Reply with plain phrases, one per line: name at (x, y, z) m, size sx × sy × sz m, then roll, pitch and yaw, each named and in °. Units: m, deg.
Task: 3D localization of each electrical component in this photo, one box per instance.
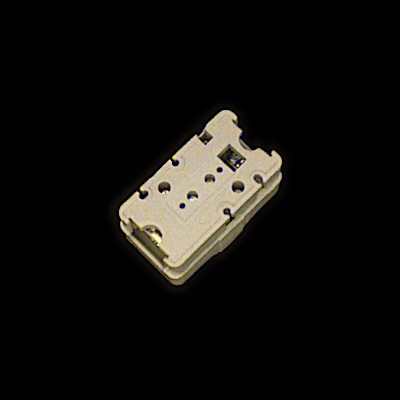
electrical component at (0.000, 0.000, 0.636) m, size 0.050 × 0.090 × 0.055 m, roll 44°, pitch -12°, yaw 12°
